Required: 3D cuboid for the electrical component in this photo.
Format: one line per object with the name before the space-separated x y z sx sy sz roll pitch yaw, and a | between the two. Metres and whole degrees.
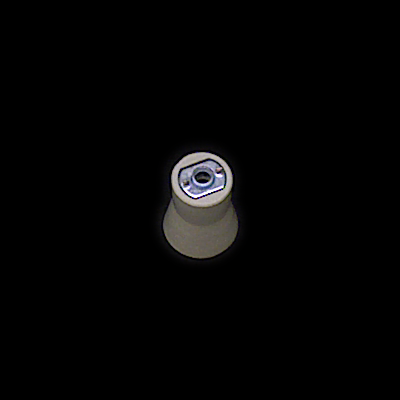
electrical component | 0.000 0.000 0.624 0.044 0.044 0.065 0 -26 -1
